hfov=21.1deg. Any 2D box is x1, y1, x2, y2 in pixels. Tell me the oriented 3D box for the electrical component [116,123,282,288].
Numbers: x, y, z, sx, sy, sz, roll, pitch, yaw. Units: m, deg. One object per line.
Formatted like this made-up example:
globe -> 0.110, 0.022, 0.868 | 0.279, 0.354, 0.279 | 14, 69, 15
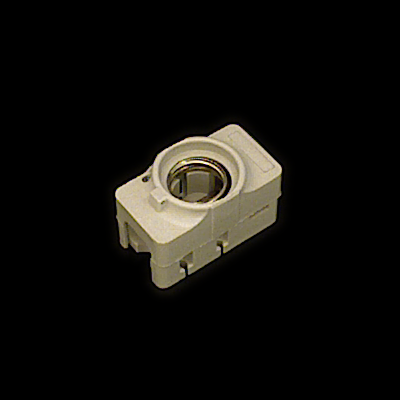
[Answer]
electrical component -> 0.000, 0.000, 0.637 | 0.090, 0.050, 0.056 | -31, -31, -22
